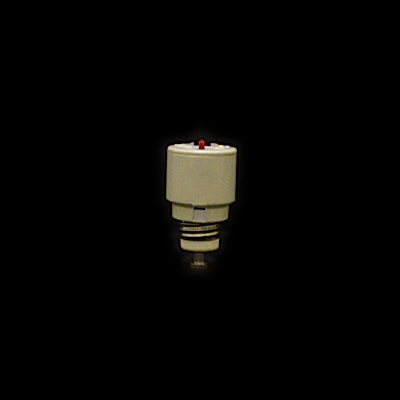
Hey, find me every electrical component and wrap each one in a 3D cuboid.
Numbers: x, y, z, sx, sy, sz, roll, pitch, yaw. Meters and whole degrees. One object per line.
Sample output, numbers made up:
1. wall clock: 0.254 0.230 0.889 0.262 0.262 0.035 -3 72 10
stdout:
1. electrical component: 0.000 0.000 0.639 0.040 0.079 0.040 1 12 0
